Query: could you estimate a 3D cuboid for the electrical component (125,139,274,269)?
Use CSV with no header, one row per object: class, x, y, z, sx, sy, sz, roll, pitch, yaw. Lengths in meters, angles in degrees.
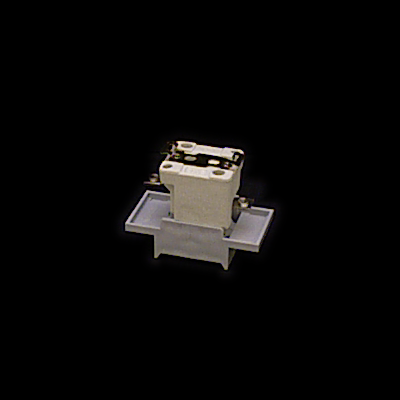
electrical component,0.000,0.000,0.634,0.081,0.064,0.041,8,32,12
